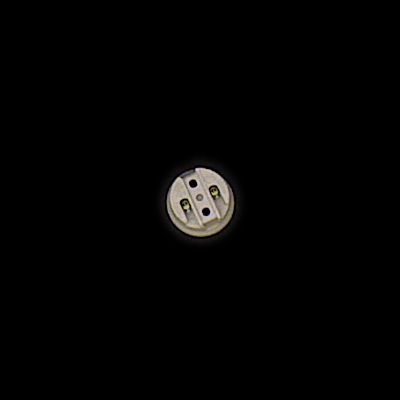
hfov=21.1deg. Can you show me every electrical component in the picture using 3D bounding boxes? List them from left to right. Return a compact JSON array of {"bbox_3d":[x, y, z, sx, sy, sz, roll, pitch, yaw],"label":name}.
[{"bbox_3d":[0.000,0.000,0.634,0.040,0.040,0.046,0,-6,1],"label":"electrical component"}]
